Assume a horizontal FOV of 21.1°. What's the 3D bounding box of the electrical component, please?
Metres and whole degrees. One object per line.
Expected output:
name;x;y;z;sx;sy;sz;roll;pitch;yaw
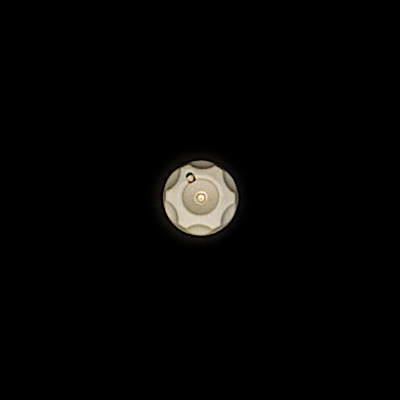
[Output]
electrical component;0.000;0.000;0.635;0.043;0.043;0.062;0;-5;0
